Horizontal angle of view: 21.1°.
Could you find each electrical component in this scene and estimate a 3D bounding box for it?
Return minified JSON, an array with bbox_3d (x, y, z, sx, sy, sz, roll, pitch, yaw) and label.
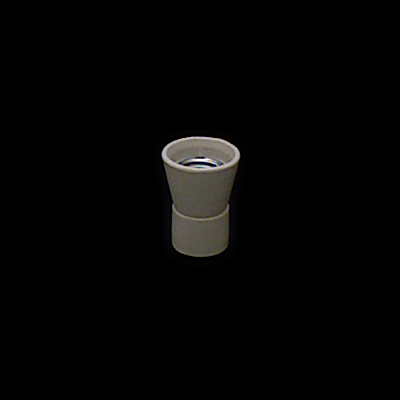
[{"bbox_3d":[0.000,0.000,0.635,0.044,0.066,0.044,0,30,0],"label":"electrical component"}]
